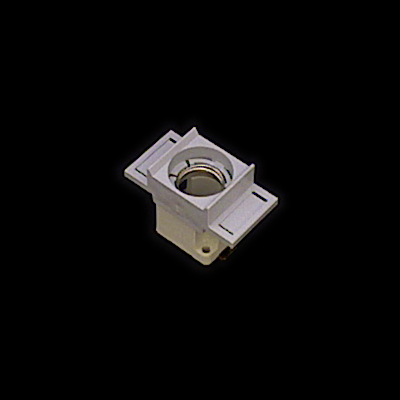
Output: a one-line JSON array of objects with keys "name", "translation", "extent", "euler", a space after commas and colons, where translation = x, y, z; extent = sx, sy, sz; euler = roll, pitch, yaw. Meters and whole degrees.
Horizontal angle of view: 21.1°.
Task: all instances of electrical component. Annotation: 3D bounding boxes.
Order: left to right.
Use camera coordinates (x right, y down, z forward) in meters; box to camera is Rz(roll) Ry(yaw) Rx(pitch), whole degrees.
[{"name": "electrical component", "translation": [0.000, 0.000, 0.627], "extent": [0.080, 0.042, 0.064], "euler": [34, -30, 23]}]
